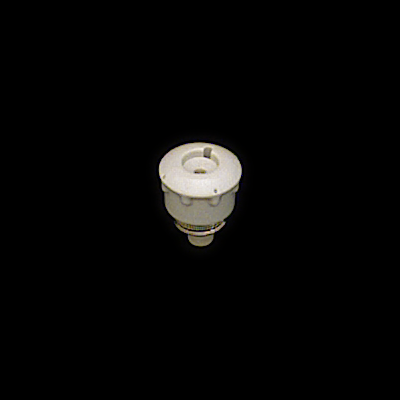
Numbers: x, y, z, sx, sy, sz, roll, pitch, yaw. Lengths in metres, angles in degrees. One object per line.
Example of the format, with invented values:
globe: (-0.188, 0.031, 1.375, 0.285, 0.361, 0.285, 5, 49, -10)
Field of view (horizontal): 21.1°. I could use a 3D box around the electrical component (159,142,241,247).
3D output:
electrical component: (0.000, 0.000, 0.638, 0.048, 0.062, 0.047, 1, 43, 0)
